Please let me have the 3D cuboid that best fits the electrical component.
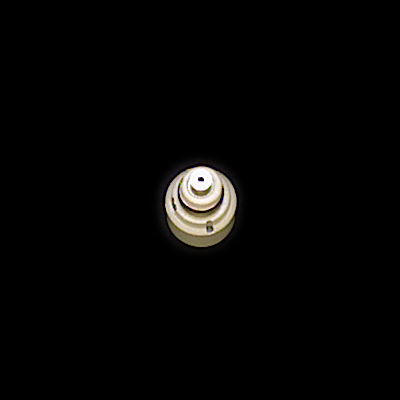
[{"bbox_3d":[0.000,0.000,0.618,0.040,0.040,0.078,0,-16,0],"label":"electrical component"}]
